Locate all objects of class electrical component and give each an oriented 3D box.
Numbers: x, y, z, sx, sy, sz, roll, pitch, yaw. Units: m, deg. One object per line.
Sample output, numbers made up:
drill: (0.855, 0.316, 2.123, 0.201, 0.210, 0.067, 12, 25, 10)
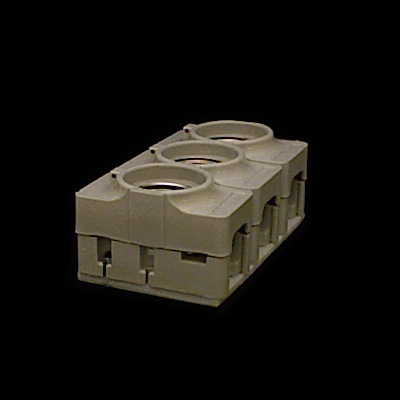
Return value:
electrical component: (0.000, 0.000, 0.645, 0.089, 0.063, 0.148, 9, 21, 21)
